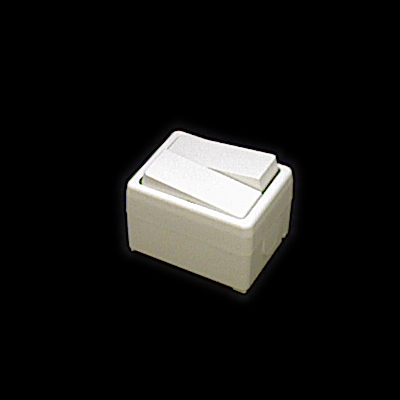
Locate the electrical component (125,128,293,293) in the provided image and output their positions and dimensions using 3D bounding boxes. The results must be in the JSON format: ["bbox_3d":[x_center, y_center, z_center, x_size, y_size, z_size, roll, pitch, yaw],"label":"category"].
[{"bbox_3d":[0.000,0.000,0.632,0.096,0.061,0.061,20,45,20],"label":"electrical component"}]
